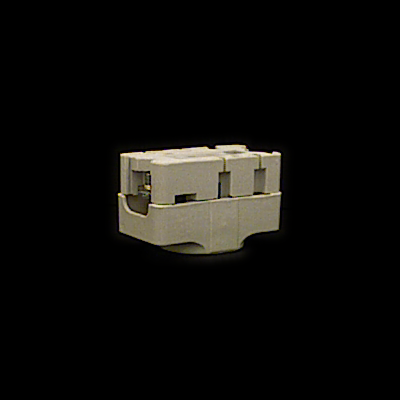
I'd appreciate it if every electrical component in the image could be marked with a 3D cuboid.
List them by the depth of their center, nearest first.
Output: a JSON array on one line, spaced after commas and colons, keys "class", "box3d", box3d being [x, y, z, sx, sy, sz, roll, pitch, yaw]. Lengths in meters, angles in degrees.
[{"class": "electrical component", "box3d": [0.000, 0.000, 0.652, 0.090, 0.056, 0.049, -6, 13, -35]}]
